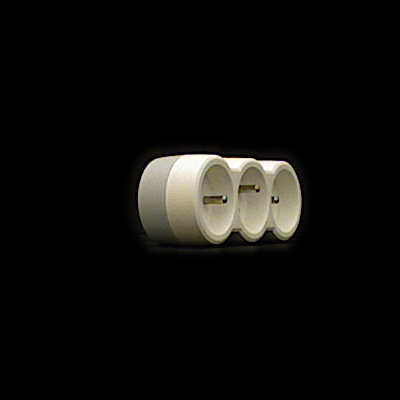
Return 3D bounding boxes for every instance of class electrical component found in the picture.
[{"bbox_3d":[0.000,0.000,0.660,0.073,0.052,0.139,0,0,30],"label":"electrical component"}]
